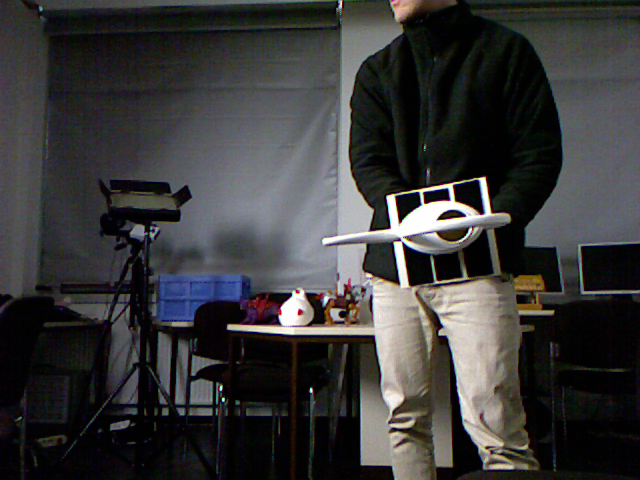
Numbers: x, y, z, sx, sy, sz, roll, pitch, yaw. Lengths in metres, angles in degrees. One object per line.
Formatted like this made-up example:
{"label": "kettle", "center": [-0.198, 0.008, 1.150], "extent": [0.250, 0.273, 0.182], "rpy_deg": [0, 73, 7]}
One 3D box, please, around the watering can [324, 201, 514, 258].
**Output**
{"label": "watering can", "center": [0.193, -0.015, 1.013], "extent": [0.348, 0.105, 0.224], "rpy_deg": [-6, -6, 10]}
